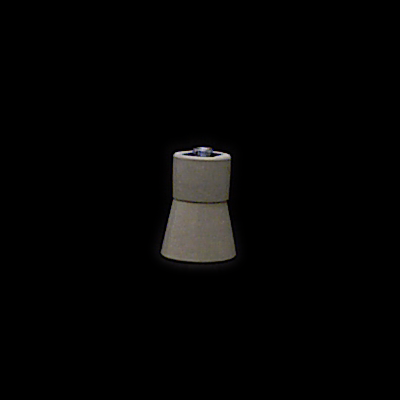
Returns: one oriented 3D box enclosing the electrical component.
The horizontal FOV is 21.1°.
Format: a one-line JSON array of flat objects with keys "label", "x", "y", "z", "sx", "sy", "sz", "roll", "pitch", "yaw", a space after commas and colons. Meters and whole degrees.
[{"label": "electrical component", "x": 0.000, "y": 0.000, "z": 0.642, "sx": 0.044, "sy": 0.066, "sz": 0.044, "roll": 2, "pitch": 11, "yaw": 0}]
